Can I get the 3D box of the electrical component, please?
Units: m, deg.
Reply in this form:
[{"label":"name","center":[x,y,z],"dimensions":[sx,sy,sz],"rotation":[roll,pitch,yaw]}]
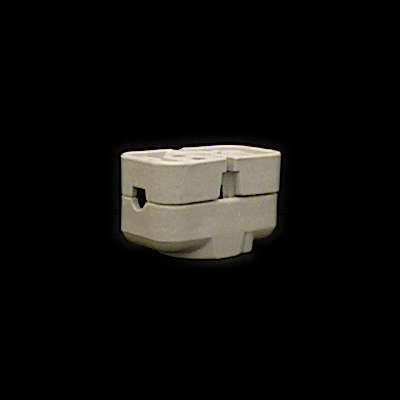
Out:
[{"label":"electrical component","center":[0.000,0.000,0.651],"dimensions":[0.095,0.060,0.053],"rotation":[-7,14,-39]}]
